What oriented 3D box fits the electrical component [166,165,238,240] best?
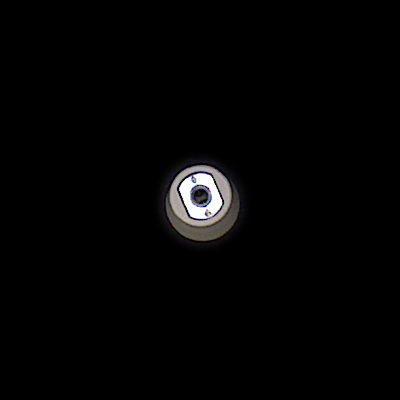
[{"bbox_3d":[0.000,0.000,0.626,0.044,0.044,0.065,0,-5,2],"label":"electrical component"}]
